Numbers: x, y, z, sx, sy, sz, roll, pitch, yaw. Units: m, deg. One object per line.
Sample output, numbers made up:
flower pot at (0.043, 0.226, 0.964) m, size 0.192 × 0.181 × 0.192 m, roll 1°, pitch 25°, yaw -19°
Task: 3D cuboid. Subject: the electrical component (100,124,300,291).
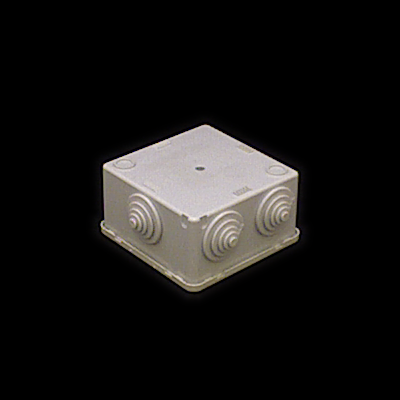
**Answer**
electrical component at (0.000, 0.000, 0.636) m, size 0.099 × 0.049 × 0.098 m, roll -24°, pitch 39°, yaw -35°
